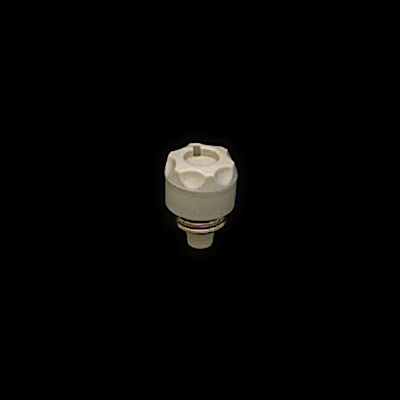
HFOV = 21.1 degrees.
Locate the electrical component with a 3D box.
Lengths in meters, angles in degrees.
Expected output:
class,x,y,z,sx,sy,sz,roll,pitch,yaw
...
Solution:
class,x,y,z,sx,sy,sz,roll,pitch,yaw
electrical component,0.000,0.000,0.641,0.043,0.063,0.043,1,33,0
